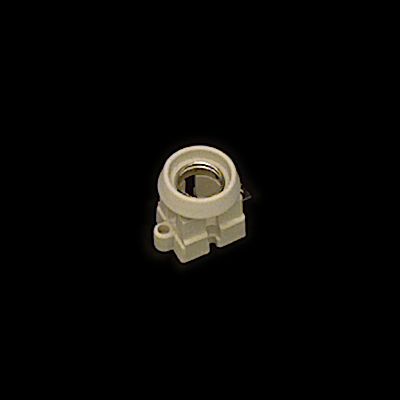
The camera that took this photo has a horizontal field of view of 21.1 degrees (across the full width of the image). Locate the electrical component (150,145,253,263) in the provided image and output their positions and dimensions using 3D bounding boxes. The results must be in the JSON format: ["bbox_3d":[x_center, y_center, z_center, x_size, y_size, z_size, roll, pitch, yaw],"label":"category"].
[{"bbox_3d":[0.000,0.000,0.639,0.067,0.048,0.056,-24,-31,-17],"label":"electrical component"}]
